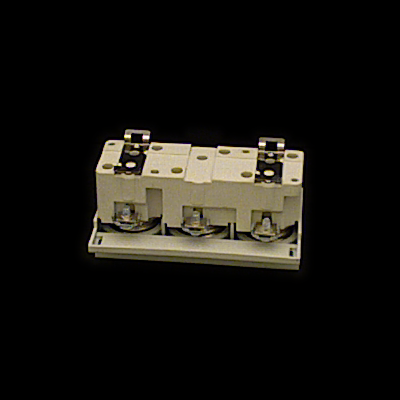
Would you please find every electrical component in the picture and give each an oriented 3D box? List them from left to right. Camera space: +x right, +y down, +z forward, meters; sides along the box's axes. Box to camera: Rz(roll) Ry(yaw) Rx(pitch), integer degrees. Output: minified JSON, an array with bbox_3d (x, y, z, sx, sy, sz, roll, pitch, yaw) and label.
[{"bbox_3d":[0.000,0.000,0.638,0.121,0.064,0.078,3,33,4],"label":"electrical component"}]
